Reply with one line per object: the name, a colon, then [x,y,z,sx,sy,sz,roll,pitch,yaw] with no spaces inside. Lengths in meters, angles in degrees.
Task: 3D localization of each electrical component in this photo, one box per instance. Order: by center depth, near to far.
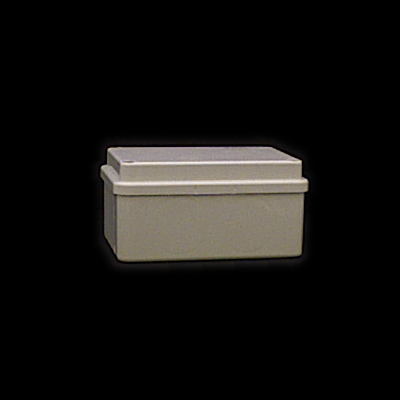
electrical component: [0.000,0.000,0.646,0.113,0.057,0.077,-1,11,-12]
